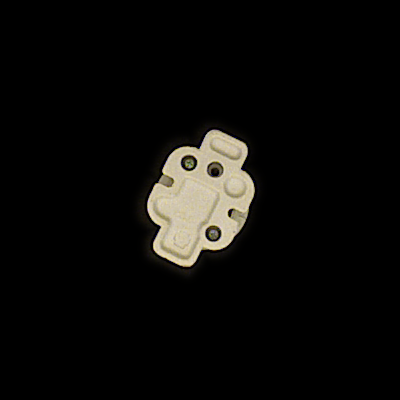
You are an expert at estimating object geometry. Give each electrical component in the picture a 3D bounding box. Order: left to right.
[{"bbox_3d":[0.000,0.000,0.637,0.058,0.078,0.056,25,-3,2],"label":"electrical component"}]
